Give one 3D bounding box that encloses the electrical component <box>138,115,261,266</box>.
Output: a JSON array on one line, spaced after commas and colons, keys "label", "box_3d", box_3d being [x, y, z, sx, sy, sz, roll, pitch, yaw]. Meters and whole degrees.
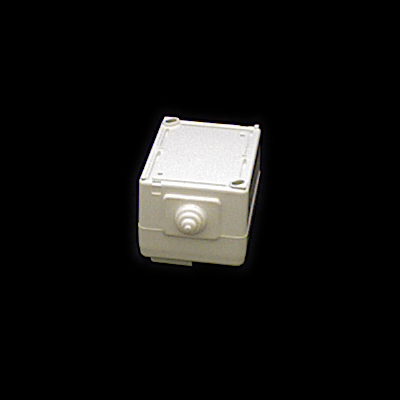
[{"label": "electrical component", "box_3d": [0.000, 0.000, 0.627, 0.062, 0.061, 0.095, 5, 31, 6]}]
